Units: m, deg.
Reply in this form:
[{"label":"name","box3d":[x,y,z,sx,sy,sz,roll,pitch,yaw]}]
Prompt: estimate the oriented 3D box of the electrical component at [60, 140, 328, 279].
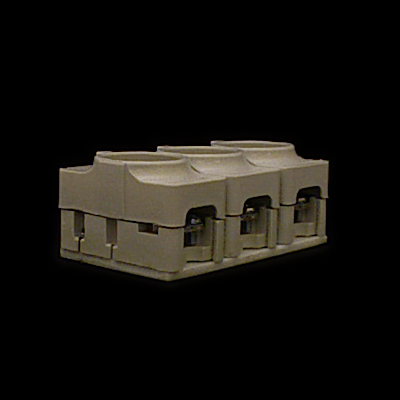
[{"label":"electrical component","box3d":[0.000,0.000,0.651,0.089,0.062,0.150,9,12,40]}]
